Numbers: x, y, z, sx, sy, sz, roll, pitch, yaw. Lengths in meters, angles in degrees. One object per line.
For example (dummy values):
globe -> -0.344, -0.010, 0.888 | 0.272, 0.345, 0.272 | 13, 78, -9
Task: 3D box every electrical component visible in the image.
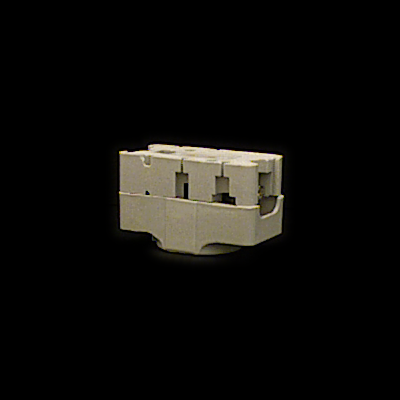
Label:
electrical component -> 0.000, 0.000, 0.650 | 0.089, 0.056, 0.050 | 6, 13, 26
